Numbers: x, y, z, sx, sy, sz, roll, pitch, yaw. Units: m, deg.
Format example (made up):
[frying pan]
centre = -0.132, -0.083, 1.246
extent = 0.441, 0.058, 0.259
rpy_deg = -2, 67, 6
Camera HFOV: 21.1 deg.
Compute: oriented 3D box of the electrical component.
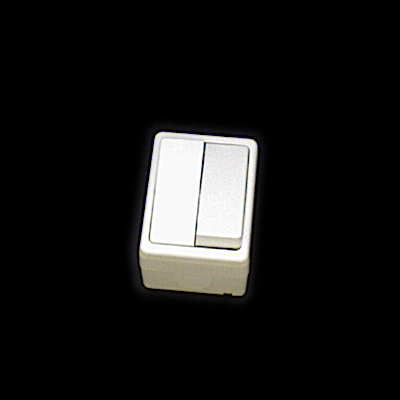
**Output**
[electrical component]
centre = 0.000, 0.000, 0.628
extent = 0.062, 0.096, 0.061
rpy_deg = 5, -27, 3
